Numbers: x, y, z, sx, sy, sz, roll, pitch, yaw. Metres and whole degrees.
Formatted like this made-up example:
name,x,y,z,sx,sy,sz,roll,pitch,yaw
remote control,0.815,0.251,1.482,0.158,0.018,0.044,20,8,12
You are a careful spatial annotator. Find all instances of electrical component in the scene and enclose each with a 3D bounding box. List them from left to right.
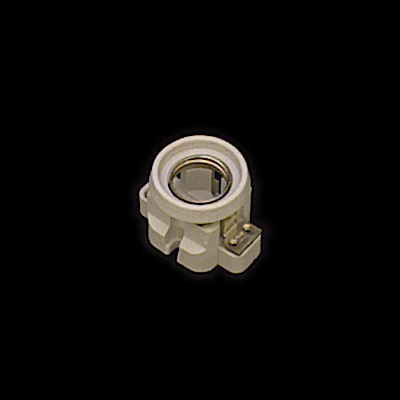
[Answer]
name,x,y,z,sx,sy,sz,roll,pitch,yaw
electrical component,0.000,0.000,0.629,0.078,0.058,0.057,32,-31,21
